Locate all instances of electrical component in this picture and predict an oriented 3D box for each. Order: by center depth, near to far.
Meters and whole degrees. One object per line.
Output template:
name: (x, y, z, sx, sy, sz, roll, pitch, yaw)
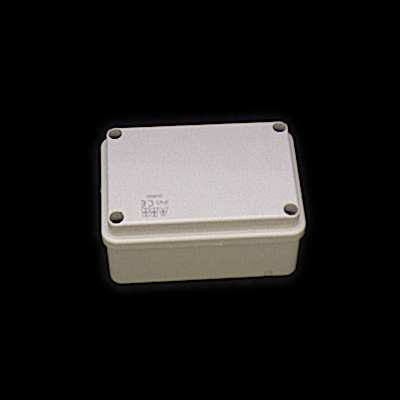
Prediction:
electrical component: (0.000, 0.000, 0.627, 0.113, 0.078, 0.057, -3, -38, -3)
